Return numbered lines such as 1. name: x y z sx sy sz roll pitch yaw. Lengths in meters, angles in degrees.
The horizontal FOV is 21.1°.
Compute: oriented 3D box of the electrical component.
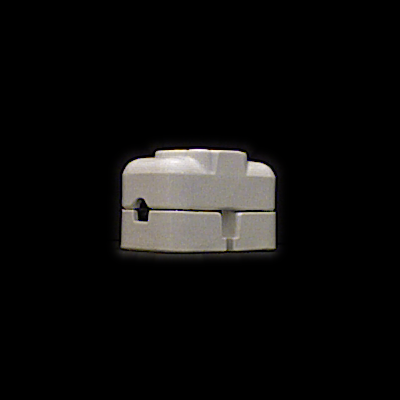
1. electrical component: 0.000 0.000 0.655 0.096 0.059 0.053 0 1 -44
